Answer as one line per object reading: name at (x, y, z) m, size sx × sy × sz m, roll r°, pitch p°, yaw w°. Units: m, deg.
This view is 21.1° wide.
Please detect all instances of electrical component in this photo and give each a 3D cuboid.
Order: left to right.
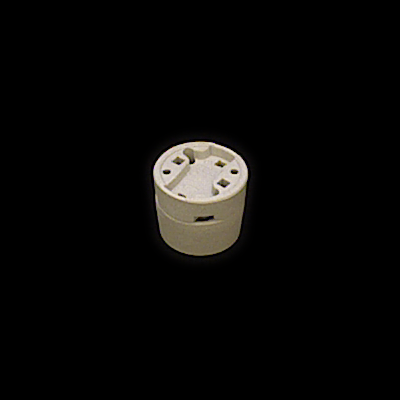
electrical component at (0.000, 0.000, 0.637) m, size 0.055 × 0.047 × 0.055 m, roll 1°, pitch 43°, yaw 0°
